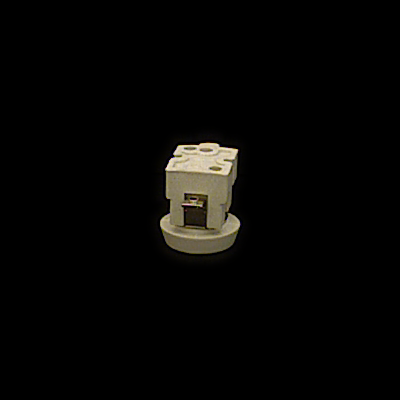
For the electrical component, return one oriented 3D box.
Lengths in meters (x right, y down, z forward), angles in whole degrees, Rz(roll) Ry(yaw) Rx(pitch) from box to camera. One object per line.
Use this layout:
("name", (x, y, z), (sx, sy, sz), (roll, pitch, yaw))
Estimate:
("electrical component", (0.000, 0.000, 0.648), (0.048, 0.056, 0.066), (6, 23, 8))
